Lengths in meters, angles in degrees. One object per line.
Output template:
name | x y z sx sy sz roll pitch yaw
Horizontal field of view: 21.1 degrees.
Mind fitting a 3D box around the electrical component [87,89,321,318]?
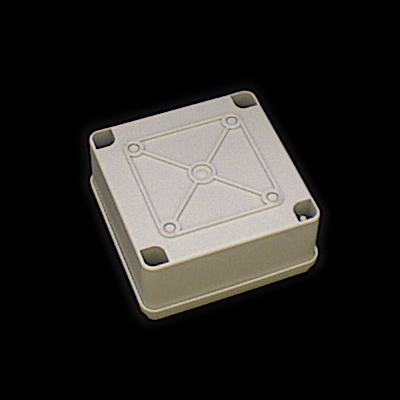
electrical component | 0.000 0.000 0.629 0.109 0.108 0.056 -17 -35 -13
